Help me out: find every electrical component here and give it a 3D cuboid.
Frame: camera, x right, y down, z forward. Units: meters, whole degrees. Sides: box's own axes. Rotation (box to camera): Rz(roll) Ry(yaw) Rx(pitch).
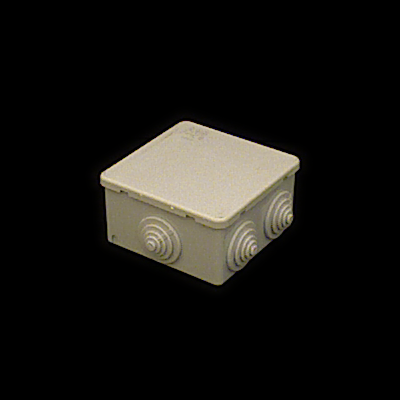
[{"bbox_3d":[0.000,0.000,0.645,0.098,0.049,0.100,21,37,28],"label":"electrical component"}]
